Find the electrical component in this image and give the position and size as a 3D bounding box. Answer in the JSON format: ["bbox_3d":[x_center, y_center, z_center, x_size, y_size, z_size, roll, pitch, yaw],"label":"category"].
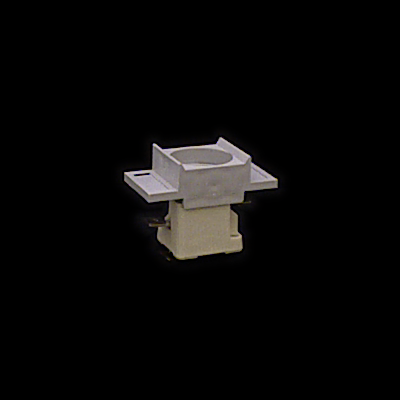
[{"bbox_3d":[0.000,0.000,0.636,0.081,0.064,0.041,-7,24,-22],"label":"electrical component"}]
